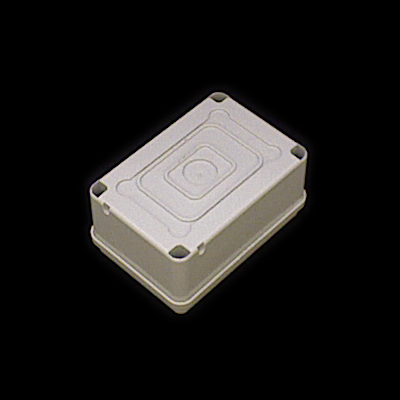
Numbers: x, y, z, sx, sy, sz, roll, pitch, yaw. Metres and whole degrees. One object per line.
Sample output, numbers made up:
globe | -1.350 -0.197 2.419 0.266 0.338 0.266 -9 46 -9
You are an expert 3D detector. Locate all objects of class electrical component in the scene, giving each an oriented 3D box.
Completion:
electrical component | 0.000 0.000 0.630 0.078 0.057 0.113 37 60 25
